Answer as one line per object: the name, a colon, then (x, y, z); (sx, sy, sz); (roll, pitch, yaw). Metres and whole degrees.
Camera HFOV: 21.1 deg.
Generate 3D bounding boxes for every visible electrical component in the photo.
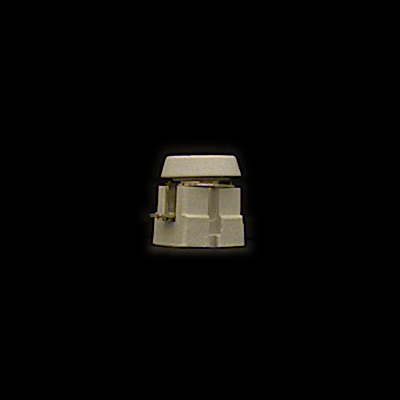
electrical component: (0.000, 0.000, 0.655); (0.067, 0.055, 0.048); (0, 0, -35)
